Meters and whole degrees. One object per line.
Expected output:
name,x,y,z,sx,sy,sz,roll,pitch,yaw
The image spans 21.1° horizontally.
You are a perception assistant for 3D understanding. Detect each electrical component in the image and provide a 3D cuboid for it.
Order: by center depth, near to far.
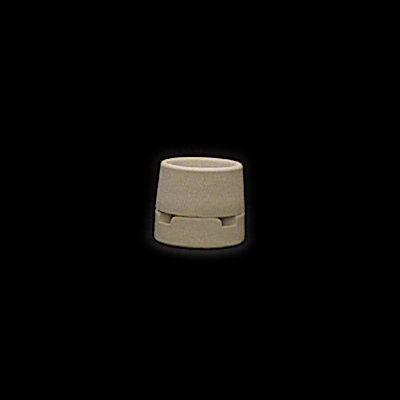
electrical component,0.000,0.000,0.646,0.055,0.047,0.055,2,11,0
